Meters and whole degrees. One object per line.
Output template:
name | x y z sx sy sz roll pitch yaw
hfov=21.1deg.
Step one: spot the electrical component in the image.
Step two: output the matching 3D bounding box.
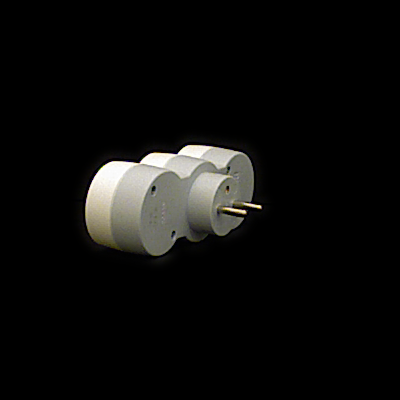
electrical component | 0.000 0.000 0.649 0.073 0.052 0.138 9 14 29
